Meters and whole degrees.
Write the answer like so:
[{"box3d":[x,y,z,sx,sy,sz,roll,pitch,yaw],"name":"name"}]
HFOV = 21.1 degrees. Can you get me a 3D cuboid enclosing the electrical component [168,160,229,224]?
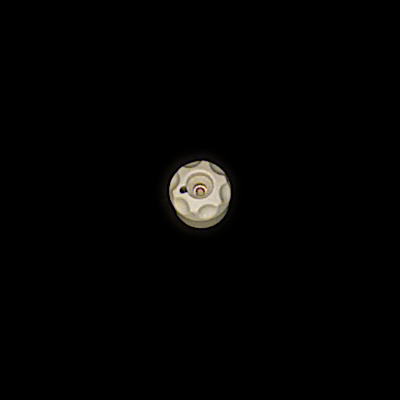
[{"box3d":[0.000,0.000,0.634,0.035,0.035,0.061,0,-16,1],"name":"electrical component"}]
